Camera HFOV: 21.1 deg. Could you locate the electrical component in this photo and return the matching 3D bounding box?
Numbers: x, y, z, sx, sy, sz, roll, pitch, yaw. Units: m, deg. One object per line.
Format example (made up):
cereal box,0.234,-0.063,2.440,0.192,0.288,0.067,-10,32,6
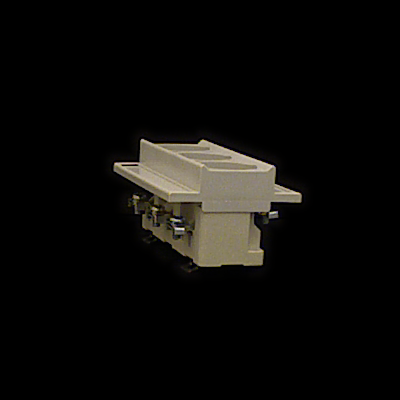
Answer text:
electrical component,0.000,0.000,0.658,0.079,0.063,0.120,-1,11,-19
